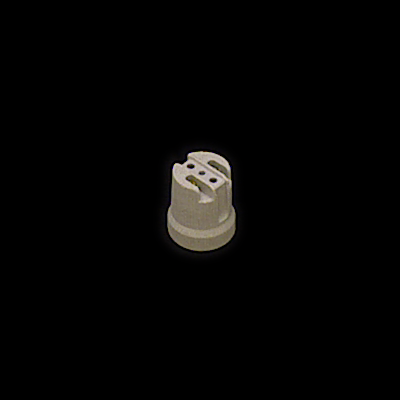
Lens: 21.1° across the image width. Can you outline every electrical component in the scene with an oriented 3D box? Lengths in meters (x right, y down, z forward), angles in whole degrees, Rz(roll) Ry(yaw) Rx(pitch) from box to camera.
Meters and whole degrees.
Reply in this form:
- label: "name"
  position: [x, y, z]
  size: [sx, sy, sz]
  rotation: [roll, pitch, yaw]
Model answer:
- label: "electrical component"
  position: [0.000, 0.000, 0.634]
  size: [0.040, 0.046, 0.040]
  rotation: [0, 42, 0]
